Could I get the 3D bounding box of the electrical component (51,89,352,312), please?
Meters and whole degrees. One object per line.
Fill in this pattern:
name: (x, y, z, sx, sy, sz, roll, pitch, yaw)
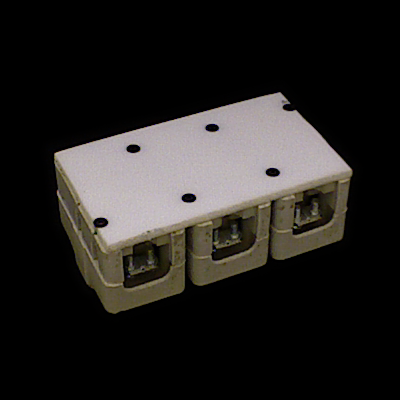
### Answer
electrical component: (0.000, 0.000, 0.634, 0.150, 0.063, 0.088, -17, 44, -18)
